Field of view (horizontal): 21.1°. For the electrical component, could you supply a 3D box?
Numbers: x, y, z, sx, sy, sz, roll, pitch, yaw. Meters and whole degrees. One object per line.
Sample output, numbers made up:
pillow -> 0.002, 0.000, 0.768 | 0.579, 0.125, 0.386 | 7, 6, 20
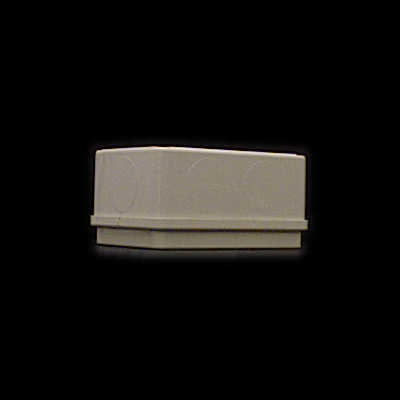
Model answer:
electrical component -> 0.000, 0.000, 0.649 | 0.113, 0.057, 0.078 | 1, 1, -35
